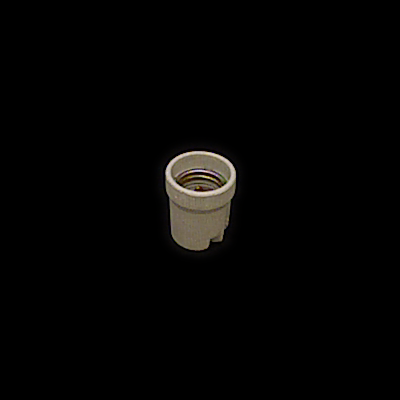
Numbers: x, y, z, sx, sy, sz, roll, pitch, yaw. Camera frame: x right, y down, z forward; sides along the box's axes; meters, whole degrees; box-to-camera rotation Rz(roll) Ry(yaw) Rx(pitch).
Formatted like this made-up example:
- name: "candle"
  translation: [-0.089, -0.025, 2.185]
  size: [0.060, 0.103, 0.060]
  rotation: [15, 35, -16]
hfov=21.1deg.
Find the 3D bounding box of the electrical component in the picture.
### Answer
- name: "electrical component"
  translation: [0.000, 0.000, 0.632]
  size: [0.040, 0.047, 0.039]
  rotation: [1, 42, 0]
